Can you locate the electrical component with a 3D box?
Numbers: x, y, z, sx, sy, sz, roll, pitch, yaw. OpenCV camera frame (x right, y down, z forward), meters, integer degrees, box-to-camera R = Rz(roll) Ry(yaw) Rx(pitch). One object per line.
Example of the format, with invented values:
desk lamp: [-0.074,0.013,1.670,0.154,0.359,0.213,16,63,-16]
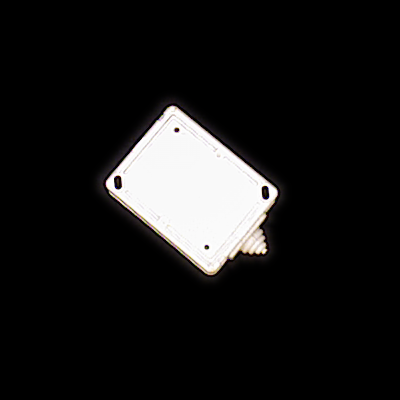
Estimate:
electrical component: [0.000,0.000,0.629,0.096,0.062,0.061,39,-5,4]
